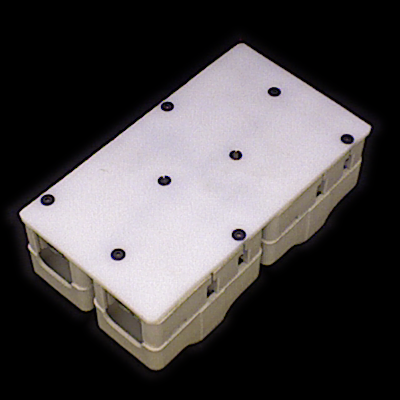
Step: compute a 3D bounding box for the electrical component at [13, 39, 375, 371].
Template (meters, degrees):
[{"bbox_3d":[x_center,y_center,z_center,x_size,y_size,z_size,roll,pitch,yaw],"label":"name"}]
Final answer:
[{"bbox_3d":[0.000,0.000,0.627,0.105,0.060,0.186,36,60,24],"label":"electrical component"}]
